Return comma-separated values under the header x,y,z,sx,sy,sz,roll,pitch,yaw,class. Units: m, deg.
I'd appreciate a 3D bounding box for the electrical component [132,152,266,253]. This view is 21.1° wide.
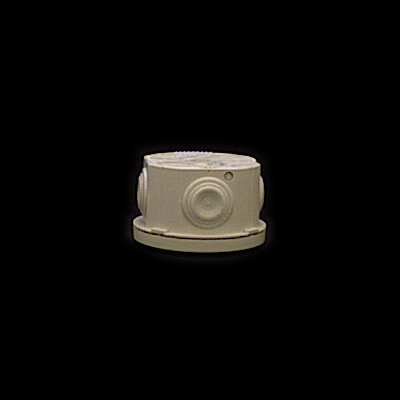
x,y,z,sx,sy,sz,roll,pitch,yaw,class
0.000,0.000,0.645,0.080,0.051,0.079,2,11,0,electrical component
